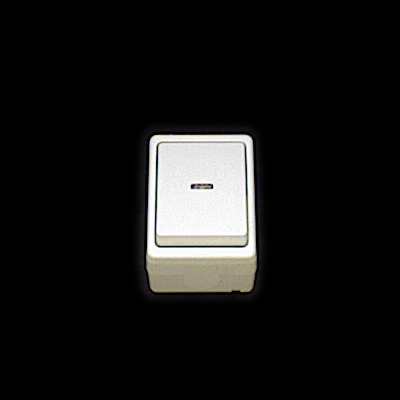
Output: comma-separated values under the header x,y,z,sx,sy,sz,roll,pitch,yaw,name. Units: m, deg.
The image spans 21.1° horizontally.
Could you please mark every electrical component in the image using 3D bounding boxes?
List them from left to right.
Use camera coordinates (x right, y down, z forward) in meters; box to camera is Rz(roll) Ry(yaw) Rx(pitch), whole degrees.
x,y,z,sx,sy,sz,roll,pitch,yaw,name
0.000,0.000,0.627,0.062,0.096,0.061,0,-27,0,electrical component
